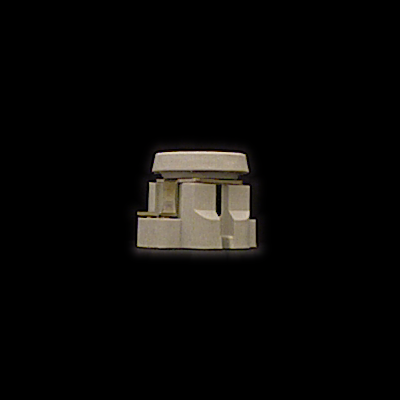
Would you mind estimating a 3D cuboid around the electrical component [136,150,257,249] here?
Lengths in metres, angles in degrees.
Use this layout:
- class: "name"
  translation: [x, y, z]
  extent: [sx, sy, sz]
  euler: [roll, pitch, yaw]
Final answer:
- class: "electrical component"
  translation: [0.000, 0.000, 0.648]
  extent: [0.079, 0.057, 0.057]
  euler: [1, 1, -40]
